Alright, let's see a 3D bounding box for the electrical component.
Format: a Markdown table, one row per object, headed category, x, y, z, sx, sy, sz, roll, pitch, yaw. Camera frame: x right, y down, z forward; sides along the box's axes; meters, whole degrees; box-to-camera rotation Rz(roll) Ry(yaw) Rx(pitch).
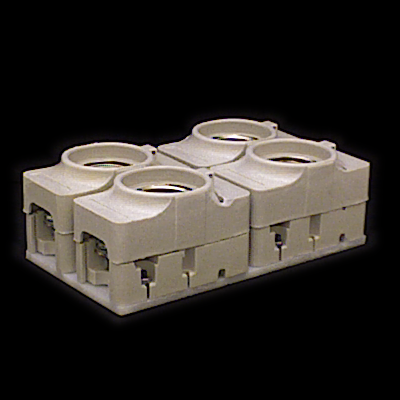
| category | x | y | z | sx | sy | sz | roll | pitch | yaw |
| --- | --- | --- | --- | --- | --- | --- | --- | --- | --- |
| electrical component | 0.000 | 0.000 | 0.639 | 0.186 | 0.061 | 0.104 | -13 | 25 | -35 |
